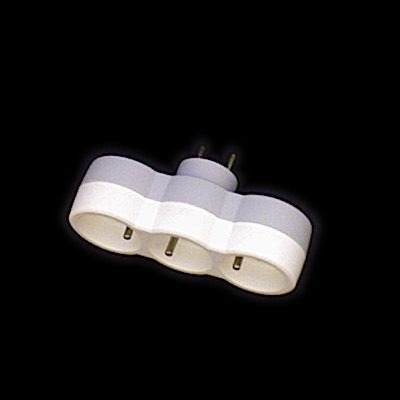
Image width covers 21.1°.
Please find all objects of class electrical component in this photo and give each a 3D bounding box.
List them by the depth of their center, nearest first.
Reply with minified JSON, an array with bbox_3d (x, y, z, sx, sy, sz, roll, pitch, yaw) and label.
[{"bbox_3d":[0.000,0.000,0.631,0.138,0.074,0.052,15,-28,8],"label":"electrical component"}]
